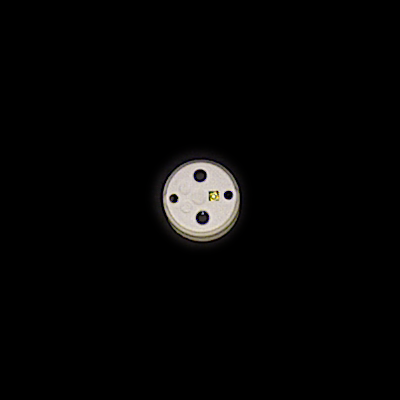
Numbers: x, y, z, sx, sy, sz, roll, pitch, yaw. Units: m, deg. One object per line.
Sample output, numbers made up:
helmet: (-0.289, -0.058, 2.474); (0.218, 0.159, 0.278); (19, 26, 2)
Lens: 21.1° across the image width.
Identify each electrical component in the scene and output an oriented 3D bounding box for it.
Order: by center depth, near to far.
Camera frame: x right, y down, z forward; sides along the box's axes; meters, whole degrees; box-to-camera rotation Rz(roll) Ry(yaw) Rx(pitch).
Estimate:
electrical component: (0.000, 0.000, 0.629); (0.045, 0.045, 0.055); (0, -6, 1)
